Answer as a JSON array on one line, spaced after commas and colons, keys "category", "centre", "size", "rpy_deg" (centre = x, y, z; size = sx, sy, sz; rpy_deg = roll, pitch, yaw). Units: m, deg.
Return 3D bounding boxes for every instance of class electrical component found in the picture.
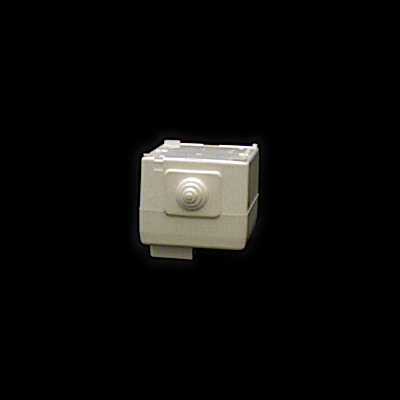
[{"category": "electrical component", "centre": [0.000, 0.000, 0.636], "size": [0.062, 0.061, 0.095], "rpy_deg": [3, 10, 7]}]
